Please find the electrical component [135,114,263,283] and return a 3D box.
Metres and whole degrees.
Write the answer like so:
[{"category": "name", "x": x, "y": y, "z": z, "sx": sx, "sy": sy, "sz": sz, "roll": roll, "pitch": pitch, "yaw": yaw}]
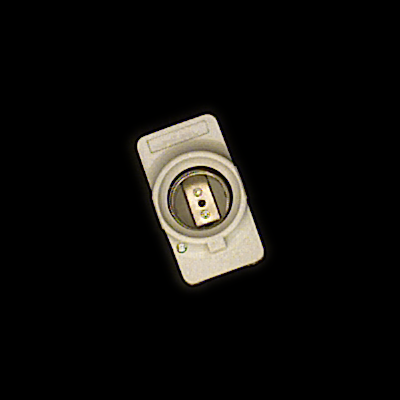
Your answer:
[{"category": "electrical component", "x": 0.000, "y": 0.000, "z": 0.637, "sx": 0.050, "sy": 0.090, "sz": 0.055, "roll": -20, "pitch": -6, "yaw": -1}]
